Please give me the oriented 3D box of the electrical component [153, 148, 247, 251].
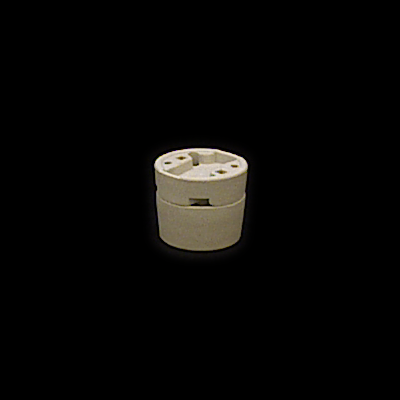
[{"bbox_3d":[0.000,0.000,0.640,0.055,0.047,0.055,1,21,0],"label":"electrical component"}]
